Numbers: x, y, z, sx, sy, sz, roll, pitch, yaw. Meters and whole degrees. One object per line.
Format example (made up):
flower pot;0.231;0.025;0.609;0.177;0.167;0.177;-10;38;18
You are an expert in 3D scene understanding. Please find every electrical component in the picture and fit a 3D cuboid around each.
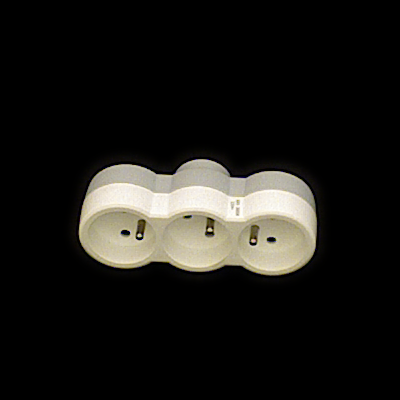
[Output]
electrical component;0.000;0.000;0.643;0.138;0.053;0.073;3;41;2
